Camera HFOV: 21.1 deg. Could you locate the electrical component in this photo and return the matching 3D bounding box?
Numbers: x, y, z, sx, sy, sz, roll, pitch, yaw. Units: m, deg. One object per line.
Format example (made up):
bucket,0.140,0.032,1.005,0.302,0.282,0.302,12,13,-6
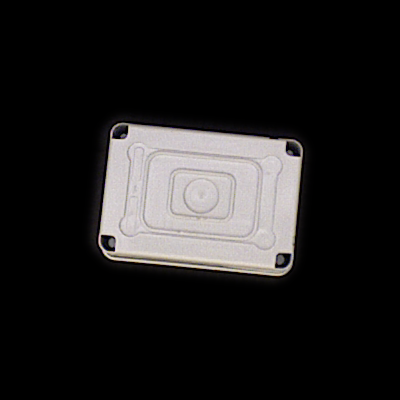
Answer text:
electrical component,0.000,0.000,0.629,0.113,0.078,0.057,6,-6,1
